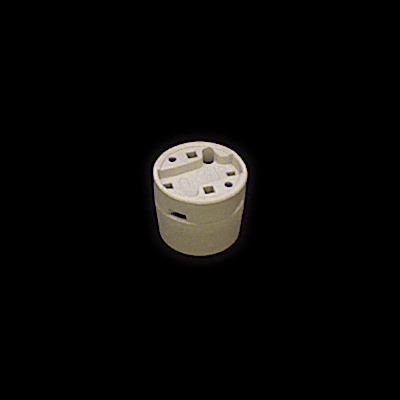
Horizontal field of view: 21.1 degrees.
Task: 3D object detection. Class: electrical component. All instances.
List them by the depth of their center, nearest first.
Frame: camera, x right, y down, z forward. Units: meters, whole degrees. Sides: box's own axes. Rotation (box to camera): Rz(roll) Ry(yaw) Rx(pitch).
[{"bbox_3d":[0.000,0.000,0.637,0.055,0.047,0.055,0,43,0],"label":"electrical component"}]
